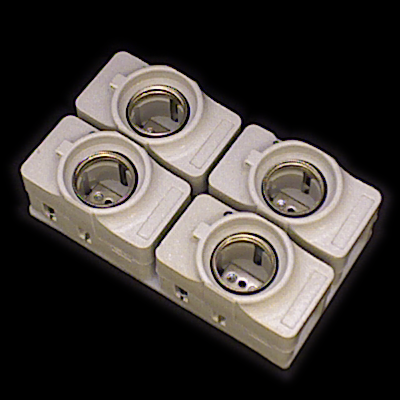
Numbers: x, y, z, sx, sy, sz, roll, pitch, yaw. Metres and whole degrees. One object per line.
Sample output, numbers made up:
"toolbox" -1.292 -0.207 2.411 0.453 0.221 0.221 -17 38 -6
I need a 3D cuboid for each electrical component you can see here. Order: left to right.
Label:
"electrical component" 0.000 0.000 0.625 0.186 0.106 0.060 30 -23 14
